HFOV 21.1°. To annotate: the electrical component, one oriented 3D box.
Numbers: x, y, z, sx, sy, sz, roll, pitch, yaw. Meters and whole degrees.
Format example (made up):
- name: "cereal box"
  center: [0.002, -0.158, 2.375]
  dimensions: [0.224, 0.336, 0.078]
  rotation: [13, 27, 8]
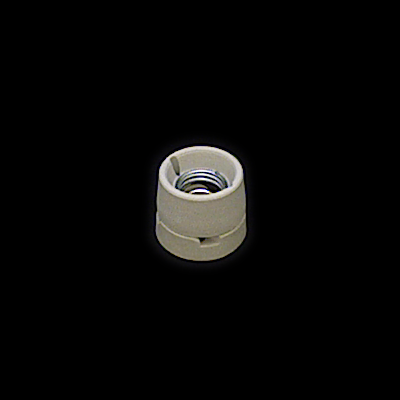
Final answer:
- name: "electrical component"
  center: [0.000, 0.000, 0.637]
  dimensions: [0.055, 0.047, 0.055]
  rotation: [0, 41, 0]
